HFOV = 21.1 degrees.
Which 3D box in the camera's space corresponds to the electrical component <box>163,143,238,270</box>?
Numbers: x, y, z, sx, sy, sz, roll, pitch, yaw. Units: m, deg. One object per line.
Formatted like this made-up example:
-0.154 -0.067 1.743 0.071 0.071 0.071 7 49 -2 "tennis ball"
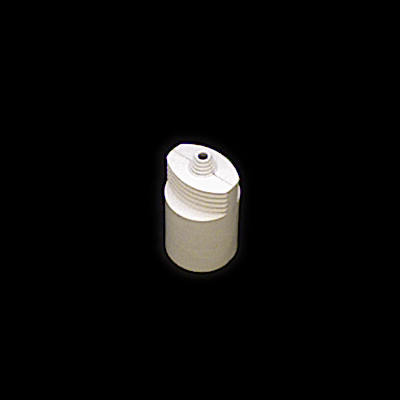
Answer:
0.000 0.000 0.619 0.043 0.043 0.081 0 -38 0 "electrical component"
